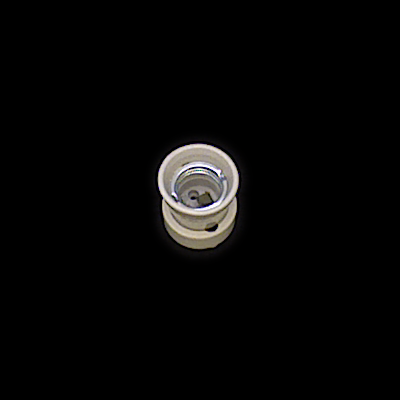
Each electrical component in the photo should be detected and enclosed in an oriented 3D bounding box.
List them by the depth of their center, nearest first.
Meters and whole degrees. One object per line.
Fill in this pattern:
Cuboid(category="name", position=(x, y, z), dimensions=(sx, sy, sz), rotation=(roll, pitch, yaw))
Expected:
Cuboid(category="electrical component", position=(0.000, 0.000, 0.627), dimensions=(0.045, 0.045, 0.055), rotation=(0, -27, 1))
